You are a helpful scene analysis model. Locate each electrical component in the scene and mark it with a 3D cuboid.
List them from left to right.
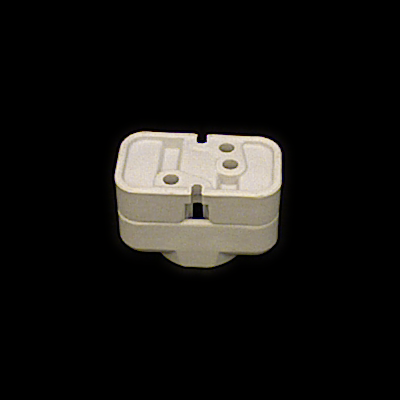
[{"bbox_3d":[0.000,0.000,0.640,0.095,0.060,0.053,2,43,2],"label":"electrical component"}]
